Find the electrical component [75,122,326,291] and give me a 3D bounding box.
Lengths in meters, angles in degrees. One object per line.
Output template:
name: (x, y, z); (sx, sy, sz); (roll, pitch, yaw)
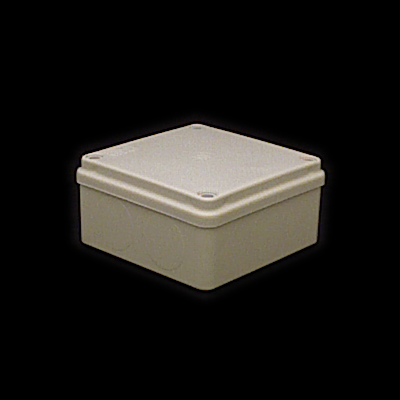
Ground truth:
electrical component: (0.000, 0.000, 0.639); (0.108, 0.057, 0.108); (19, 27, 38)
